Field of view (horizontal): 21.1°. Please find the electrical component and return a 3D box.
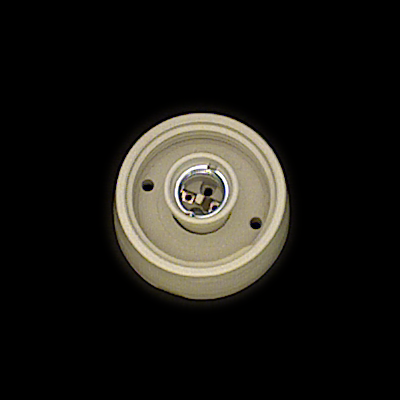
[{"bbox_3d":[0.000,0.000,0.633,0.108,0.108,0.060,0,-16,0],"label":"electrical component"}]
